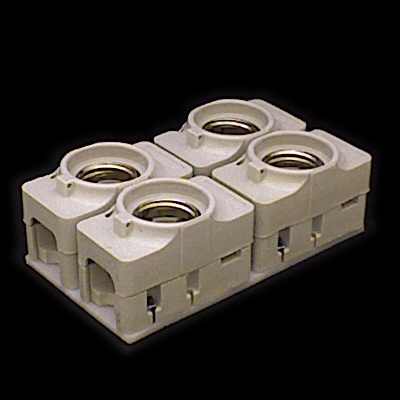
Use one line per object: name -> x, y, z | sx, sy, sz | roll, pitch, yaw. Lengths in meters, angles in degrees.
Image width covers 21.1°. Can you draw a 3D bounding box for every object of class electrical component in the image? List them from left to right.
electrical component -> 0.000, 0.000, 0.633 | 0.186, 0.061, 0.104 | -23, 39, -33
